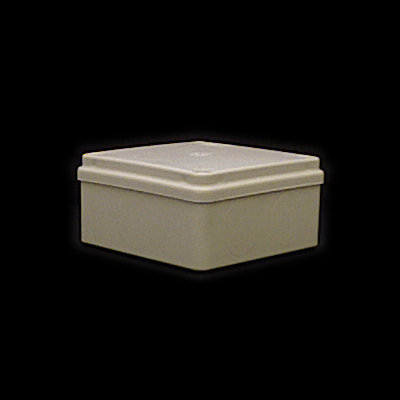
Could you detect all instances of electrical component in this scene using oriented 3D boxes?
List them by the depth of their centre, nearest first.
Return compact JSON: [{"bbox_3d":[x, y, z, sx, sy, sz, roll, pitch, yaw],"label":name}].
[{"bbox_3d":[0.000,0.000,0.643,0.108,0.056,0.109,11,15,43],"label":"electrical component"}]
